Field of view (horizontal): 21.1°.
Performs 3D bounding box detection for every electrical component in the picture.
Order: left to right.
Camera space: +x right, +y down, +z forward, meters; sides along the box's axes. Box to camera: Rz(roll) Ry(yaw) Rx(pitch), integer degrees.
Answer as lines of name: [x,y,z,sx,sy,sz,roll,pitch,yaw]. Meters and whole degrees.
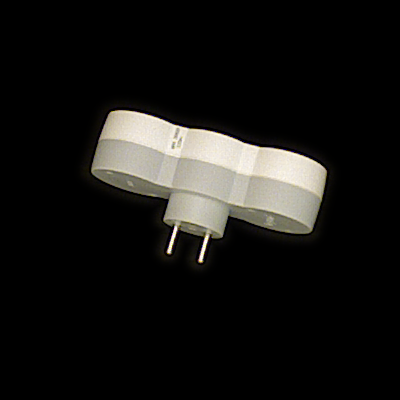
electrical component: [0.000,0.000,0.637,0.138,0.074,0.052,15,-14,4]
